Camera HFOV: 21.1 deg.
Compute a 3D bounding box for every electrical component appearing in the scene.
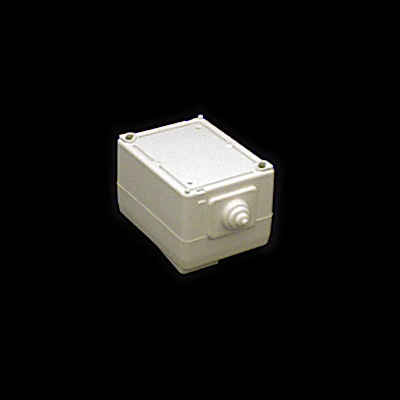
[{"bbox_3d":[0.000,0.000,0.630,0.061,0.061,0.096,-17,35,-28],"label":"electrical component"}]
